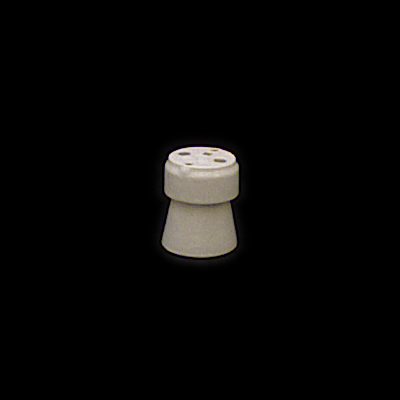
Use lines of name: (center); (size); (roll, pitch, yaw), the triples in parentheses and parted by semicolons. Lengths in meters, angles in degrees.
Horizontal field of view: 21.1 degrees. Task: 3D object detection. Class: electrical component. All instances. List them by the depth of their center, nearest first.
electrical component: (0.000, 0.000, 0.639); (0.045, 0.056, 0.044); (1, 22, 0)
